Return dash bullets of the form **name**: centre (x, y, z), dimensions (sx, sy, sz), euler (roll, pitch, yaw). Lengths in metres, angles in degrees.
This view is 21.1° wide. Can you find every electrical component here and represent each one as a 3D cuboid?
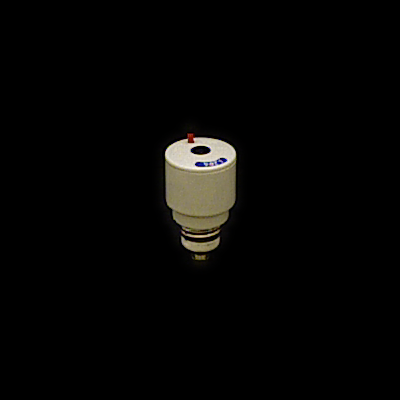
- **electrical component**: centre (0.000, 0.000, 0.631), dimensions (0.040, 0.079, 0.039), euler (0, 31, 0)
